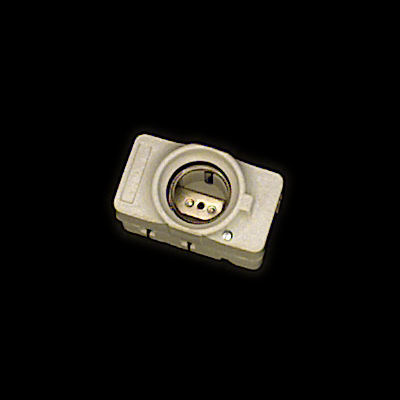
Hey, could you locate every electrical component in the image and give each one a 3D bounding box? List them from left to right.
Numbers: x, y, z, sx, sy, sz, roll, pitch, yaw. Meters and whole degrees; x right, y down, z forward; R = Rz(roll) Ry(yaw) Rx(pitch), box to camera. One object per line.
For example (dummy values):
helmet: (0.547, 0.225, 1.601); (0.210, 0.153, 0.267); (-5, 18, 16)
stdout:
electrical component: (0.000, 0.000, 0.636); (0.089, 0.050, 0.055); (16, -15, 5)
